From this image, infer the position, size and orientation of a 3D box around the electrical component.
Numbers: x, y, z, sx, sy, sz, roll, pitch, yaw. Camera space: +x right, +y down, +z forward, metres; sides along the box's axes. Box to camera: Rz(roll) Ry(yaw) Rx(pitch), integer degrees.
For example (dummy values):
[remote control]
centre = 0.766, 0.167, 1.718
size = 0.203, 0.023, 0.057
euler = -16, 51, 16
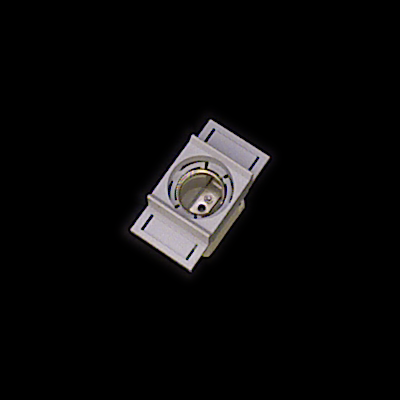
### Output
[electrical component]
centre = 0.000, 0.000, 0.624
size = 0.042, 0.081, 0.063
euler = 33, -13, 11
